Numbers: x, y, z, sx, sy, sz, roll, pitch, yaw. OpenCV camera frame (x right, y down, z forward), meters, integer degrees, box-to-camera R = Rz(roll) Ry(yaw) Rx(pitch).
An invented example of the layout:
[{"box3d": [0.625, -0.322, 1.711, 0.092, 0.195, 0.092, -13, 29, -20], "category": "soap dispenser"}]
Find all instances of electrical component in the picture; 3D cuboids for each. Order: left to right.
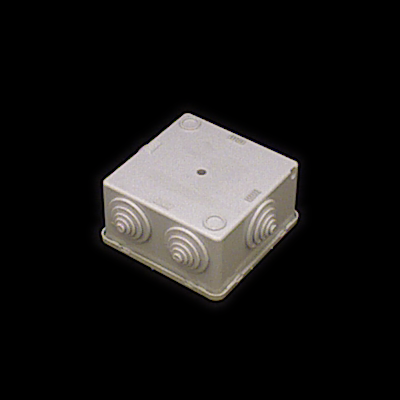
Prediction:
[{"box3d": [0.000, 0.000, 0.634, 0.099, 0.049, 0.099, 26, 48, 25], "category": "electrical component"}]
